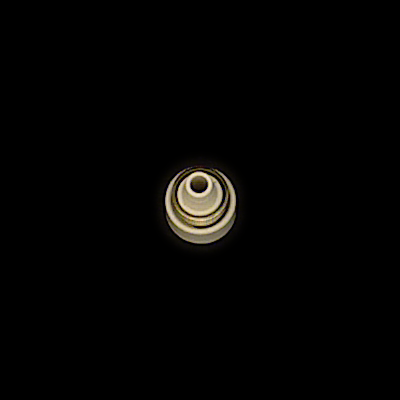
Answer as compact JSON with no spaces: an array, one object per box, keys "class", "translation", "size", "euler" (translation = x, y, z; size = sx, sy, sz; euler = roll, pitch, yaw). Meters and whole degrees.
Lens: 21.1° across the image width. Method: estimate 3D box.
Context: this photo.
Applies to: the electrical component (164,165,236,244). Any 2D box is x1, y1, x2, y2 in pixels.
[{"class":"electrical component","translation":[0.000,0.000,0.634],"size":[0.043,0.043,0.061],"euler":[0,-17,1]}]
